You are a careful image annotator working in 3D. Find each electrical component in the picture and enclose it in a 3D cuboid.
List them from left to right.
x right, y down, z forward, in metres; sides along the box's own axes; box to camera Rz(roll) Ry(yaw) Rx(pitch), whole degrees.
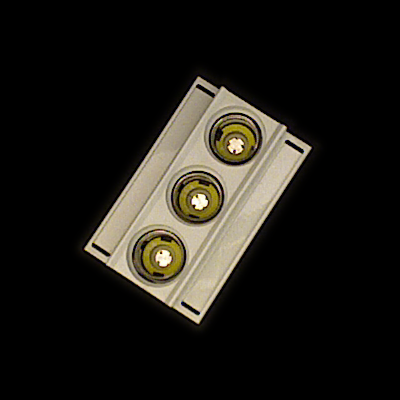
[{"bbox_3d":[0.000,0.000,0.637,0.079,0.121,0.063,33,-5,5],"label":"electrical component"}]
